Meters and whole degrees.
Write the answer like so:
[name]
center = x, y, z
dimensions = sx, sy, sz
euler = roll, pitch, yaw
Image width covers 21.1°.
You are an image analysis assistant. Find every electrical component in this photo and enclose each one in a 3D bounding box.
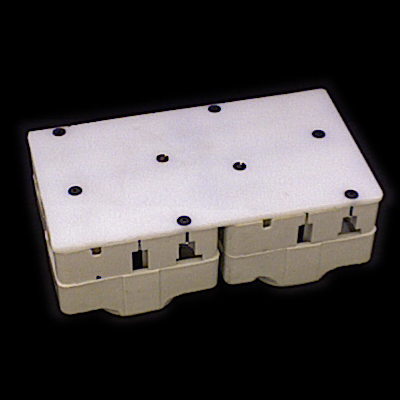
[electrical component]
center = 0.000, 0.000, 0.630
dimensions = 0.186, 0.061, 0.104
euler = -9, 43, -11
